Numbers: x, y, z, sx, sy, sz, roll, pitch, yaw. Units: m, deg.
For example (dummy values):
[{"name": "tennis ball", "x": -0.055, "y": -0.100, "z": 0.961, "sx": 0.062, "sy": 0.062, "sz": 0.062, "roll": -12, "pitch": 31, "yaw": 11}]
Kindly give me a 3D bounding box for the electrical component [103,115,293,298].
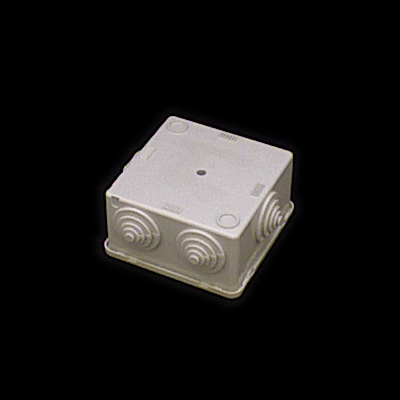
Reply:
[{"name": "electrical component", "x": 0.000, "y": 0.000, "z": 0.634, "sx": 0.099, "sy": 0.049, "sz": 0.099, "roll": 19, "pitch": 45, "yaw": 18}]
